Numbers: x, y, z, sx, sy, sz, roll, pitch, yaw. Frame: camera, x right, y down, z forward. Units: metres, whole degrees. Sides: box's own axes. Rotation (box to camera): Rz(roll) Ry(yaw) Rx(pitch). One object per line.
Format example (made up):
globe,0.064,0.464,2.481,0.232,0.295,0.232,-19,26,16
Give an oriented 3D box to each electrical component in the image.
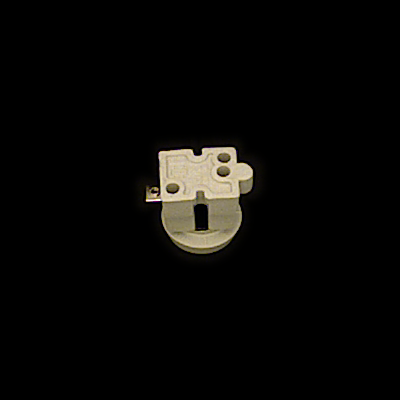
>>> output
electrical component,0.000,0.000,0.639,0.066,0.048,0.056,-3,-36,-1
